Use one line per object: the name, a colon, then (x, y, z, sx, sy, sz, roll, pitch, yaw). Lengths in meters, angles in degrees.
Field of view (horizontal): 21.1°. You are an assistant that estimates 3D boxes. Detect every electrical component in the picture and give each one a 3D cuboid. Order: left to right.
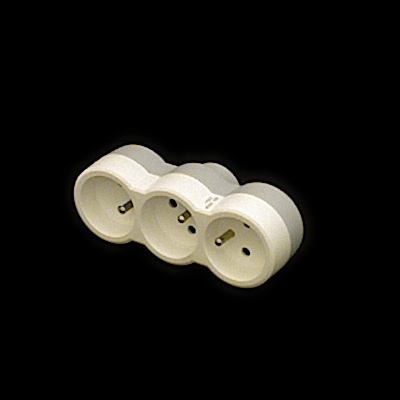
electrical component: (0.000, 0.000, 0.646, 0.137, 0.053, 0.073, 18, 34, 25)
